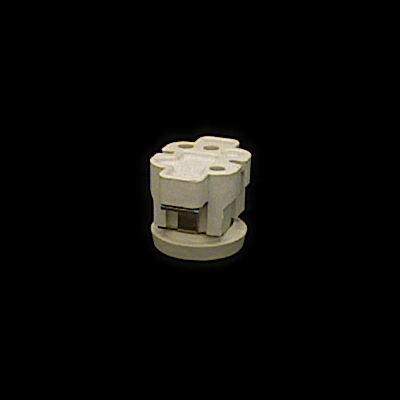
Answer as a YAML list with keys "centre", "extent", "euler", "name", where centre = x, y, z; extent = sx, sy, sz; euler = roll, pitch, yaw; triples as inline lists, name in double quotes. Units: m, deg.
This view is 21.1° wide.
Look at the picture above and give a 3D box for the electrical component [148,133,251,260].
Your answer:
- centre: [0.000, 0.000, 0.645]
  extent: [0.057, 0.057, 0.078]
  euler: [8, 24, 16]
  name: "electrical component"
